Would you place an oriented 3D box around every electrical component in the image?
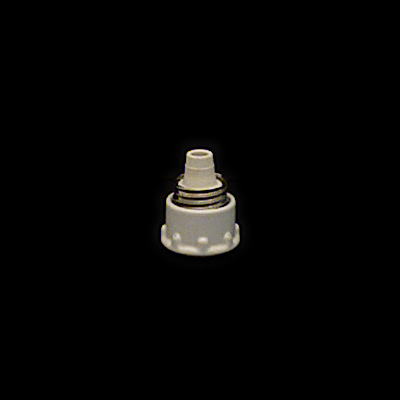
[{"bbox_3d":[0.000,0.000,0.644,0.048,0.063,0.047,0,22,1],"label":"electrical component"}]
